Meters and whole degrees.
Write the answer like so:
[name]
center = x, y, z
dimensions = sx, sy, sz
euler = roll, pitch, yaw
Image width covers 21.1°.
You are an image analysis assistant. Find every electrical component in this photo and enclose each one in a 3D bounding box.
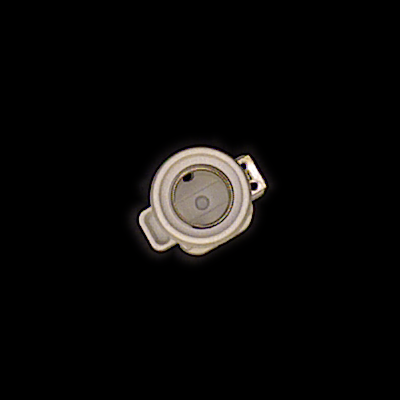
[electrical component]
center = 0.000, 0.000, 0.630
dimensions = 0.078, 0.058, 0.056
euler = -30, -6, -3
